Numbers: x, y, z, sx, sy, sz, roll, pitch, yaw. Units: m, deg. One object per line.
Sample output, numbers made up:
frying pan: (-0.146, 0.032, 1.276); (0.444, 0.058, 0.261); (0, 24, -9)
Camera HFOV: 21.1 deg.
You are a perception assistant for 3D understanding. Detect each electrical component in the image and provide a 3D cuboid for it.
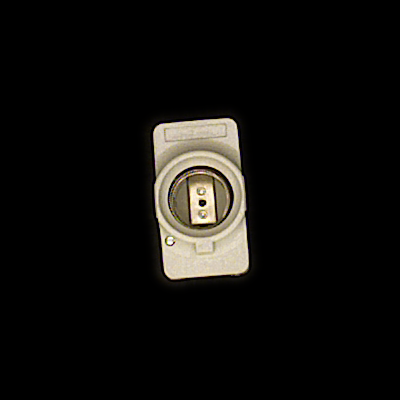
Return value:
electrical component: (0.000, 0.000, 0.637); (0.050, 0.090, 0.055); (-5, -6, 0)
